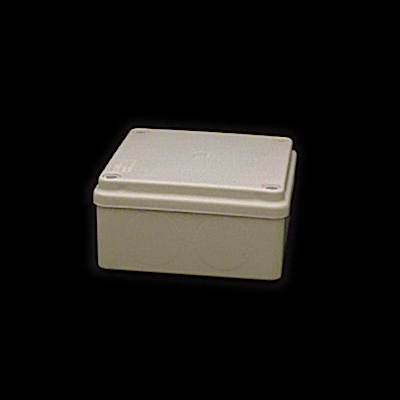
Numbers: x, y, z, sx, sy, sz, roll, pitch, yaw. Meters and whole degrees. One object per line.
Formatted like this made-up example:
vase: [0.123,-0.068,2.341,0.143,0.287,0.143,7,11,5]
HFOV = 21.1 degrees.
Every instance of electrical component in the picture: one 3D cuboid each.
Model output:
electrical component: [0.000,0.000,0.641,0.109,0.057,0.107,4,21,6]
